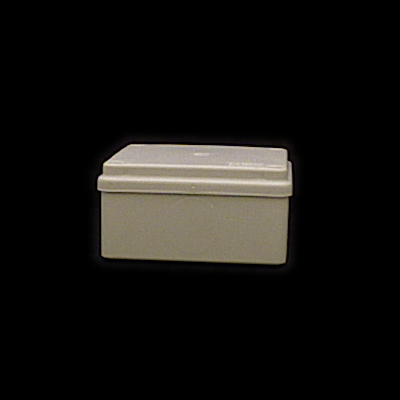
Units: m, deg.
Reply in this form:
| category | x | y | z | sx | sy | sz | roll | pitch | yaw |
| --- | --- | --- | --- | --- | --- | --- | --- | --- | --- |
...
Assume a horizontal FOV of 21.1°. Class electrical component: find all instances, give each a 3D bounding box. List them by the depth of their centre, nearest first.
| category | x | y | z | sx | sy | sz | roll | pitch | yaw |
| --- | --- | --- | --- | --- | --- | --- | --- | --- | --- |
| electrical component | 0.000 | 0.000 | 0.646 | 0.109 | 0.056 | 0.108 | 2 | 10 | 4 |
